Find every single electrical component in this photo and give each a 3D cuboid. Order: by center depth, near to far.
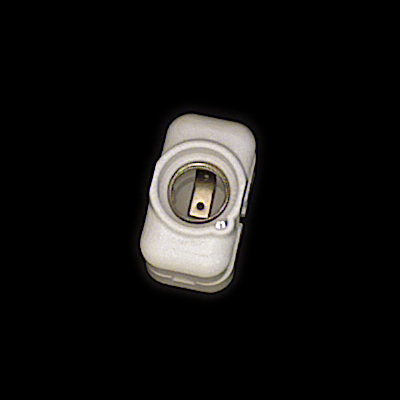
[{"bbox_3d":[0.000,0.000,0.634,0.053,0.095,0.059,11,-15,4],"label":"electrical component"}]
